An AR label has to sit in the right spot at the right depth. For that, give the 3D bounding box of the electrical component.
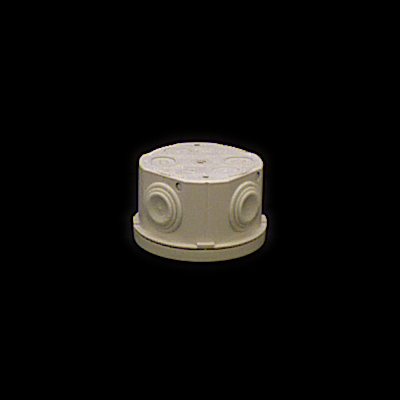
[{"bbox_3d":[0.000,0.000,0.640,0.080,0.051,0.079,1,22,0],"label":"electrical component"}]
